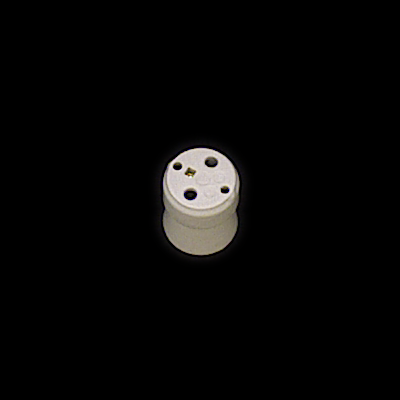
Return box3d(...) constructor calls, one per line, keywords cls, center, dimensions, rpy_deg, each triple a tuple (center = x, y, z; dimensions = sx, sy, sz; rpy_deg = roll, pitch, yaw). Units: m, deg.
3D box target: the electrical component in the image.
box3d(cls="electrical component", center=(0.000, 0.000, 0.629), dimensions=(0.045, 0.045, 0.055), rpy_deg=(0, -27, -1))
